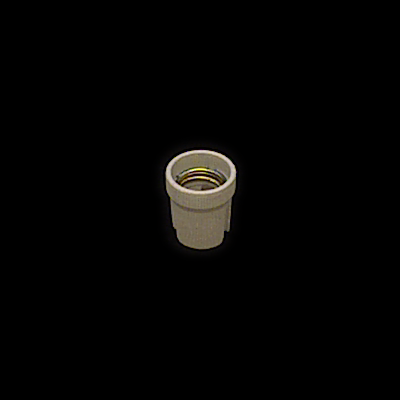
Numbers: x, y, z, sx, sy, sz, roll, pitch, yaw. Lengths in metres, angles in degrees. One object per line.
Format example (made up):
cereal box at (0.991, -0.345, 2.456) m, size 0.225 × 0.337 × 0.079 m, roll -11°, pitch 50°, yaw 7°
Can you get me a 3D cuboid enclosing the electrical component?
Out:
electrical component at (0.000, 0.000, 0.634) m, size 0.040 × 0.047 × 0.039 m, roll 1°, pitch 42°, yaw 0°
